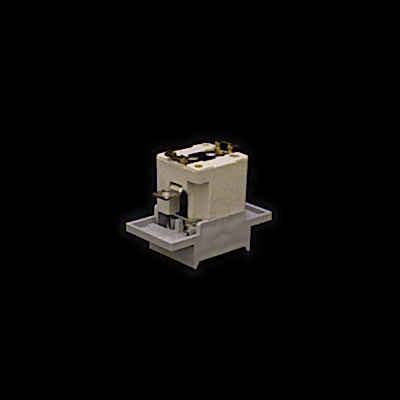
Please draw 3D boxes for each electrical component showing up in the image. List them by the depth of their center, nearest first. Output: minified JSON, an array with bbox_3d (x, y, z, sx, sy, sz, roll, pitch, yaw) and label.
[{"bbox_3d":[0.000,0.000,0.639,0.080,0.064,0.042,-17,28,-40],"label":"electrical component"}]
